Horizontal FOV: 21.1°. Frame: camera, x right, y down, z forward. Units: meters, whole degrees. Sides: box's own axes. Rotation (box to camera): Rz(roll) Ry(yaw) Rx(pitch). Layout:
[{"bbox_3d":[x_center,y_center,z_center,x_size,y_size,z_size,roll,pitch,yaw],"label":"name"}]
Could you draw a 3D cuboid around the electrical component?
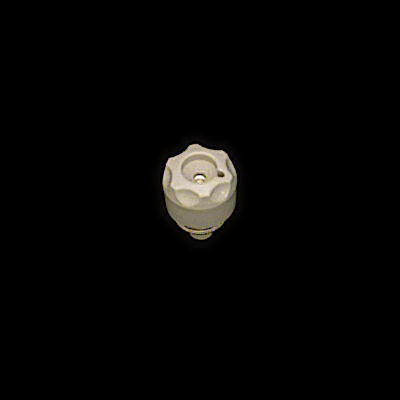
[{"bbox_3d":[0.000,0.000,0.635,0.043,0.043,0.062,0,-37,1],"label":"electrical component"}]
